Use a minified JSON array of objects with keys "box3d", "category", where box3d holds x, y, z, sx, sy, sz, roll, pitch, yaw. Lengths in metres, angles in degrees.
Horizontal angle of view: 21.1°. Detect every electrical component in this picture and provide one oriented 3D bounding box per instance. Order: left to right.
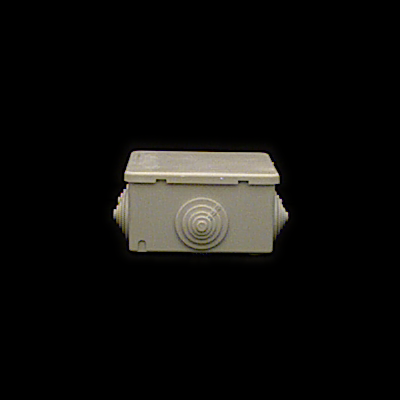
[{"box3d":[0.000,0.000,0.652,0.100,0.049,0.099,1,11,-1],"category":"electrical component"}]
